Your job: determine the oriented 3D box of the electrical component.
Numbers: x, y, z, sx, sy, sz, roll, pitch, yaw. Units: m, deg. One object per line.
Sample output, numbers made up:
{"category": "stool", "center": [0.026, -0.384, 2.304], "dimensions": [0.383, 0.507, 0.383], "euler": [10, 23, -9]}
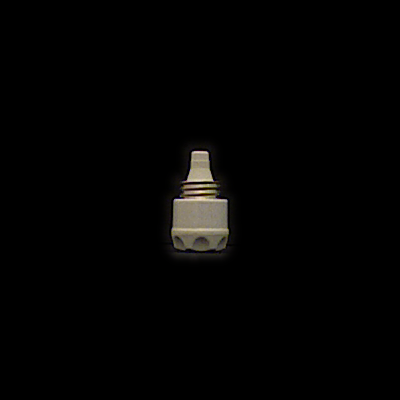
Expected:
{"category": "electrical component", "center": [0.000, 0.000, 0.661], "dimensions": [0.035, 0.061, 0.035], "euler": [0, 1, 0]}
